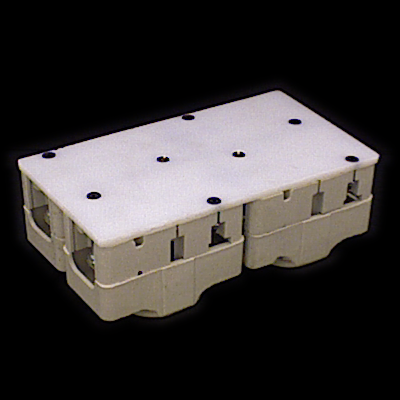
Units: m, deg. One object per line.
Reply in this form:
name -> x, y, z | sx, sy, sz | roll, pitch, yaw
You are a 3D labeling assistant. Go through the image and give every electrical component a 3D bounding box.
electrical component -> 0.000, 0.000, 0.634 | 0.186, 0.061, 0.104 | -17, 36, -28
